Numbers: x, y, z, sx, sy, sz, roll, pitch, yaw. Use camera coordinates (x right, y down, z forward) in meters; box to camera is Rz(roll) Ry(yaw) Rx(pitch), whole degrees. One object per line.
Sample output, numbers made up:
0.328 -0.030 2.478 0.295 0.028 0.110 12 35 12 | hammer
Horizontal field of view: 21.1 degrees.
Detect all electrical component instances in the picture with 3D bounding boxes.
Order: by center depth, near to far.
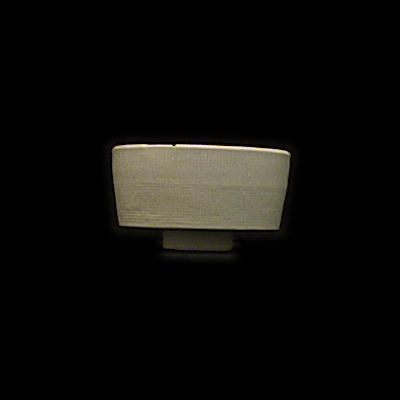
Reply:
0.000 0.000 0.652 0.108 0.060 0.108 1 0 1 | electrical component
